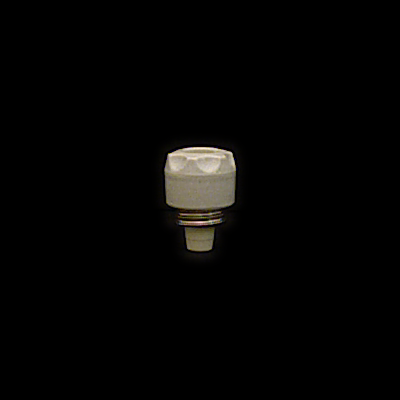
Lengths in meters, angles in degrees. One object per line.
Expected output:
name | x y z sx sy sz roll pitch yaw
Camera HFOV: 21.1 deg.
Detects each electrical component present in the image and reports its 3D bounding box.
electrical component | 0.000 0.000 0.650 0.043 0.062 0.043 1 12 0
